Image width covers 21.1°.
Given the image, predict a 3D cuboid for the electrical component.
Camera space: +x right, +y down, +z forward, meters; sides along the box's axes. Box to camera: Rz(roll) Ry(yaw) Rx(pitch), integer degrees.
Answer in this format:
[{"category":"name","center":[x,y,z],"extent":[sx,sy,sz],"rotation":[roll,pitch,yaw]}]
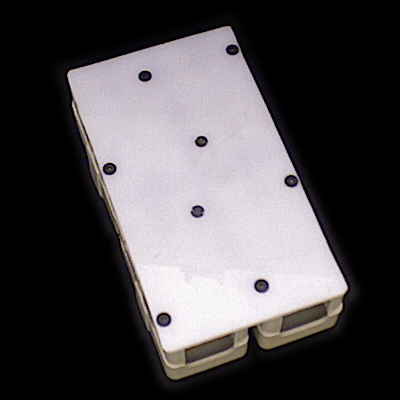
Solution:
[{"category":"electrical component","center":[0.000,0.000,0.625],"extent":[0.106,0.186,0.060],"rotation":[-18,-25,-9]}]
